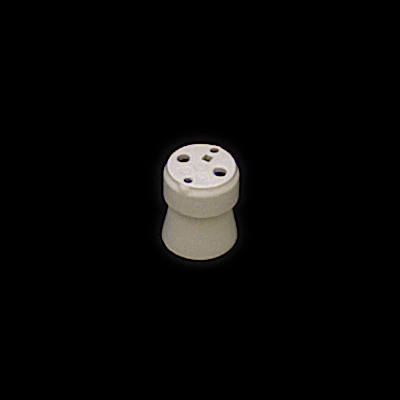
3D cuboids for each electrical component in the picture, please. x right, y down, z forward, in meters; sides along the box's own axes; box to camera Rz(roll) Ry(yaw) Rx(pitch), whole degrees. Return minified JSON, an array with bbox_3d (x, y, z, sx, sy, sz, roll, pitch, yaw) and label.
[{"bbox_3d":[0.000,0.000,0.632,0.045,0.055,0.044,1,43,0],"label":"electrical component"}]
